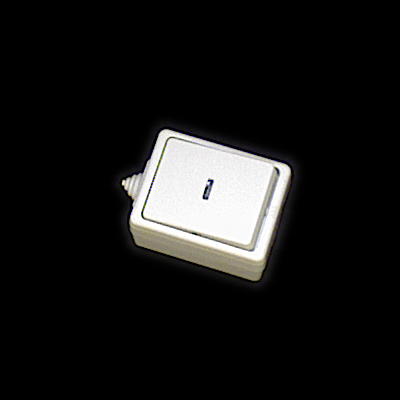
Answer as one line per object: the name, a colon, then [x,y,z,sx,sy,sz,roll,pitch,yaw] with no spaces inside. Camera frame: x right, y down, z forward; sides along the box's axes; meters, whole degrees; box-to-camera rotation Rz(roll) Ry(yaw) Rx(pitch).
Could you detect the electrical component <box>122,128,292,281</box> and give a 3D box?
electrical component: [0.000,0.000,0.626,0.096,0.062,0.060,17,-16,5]
